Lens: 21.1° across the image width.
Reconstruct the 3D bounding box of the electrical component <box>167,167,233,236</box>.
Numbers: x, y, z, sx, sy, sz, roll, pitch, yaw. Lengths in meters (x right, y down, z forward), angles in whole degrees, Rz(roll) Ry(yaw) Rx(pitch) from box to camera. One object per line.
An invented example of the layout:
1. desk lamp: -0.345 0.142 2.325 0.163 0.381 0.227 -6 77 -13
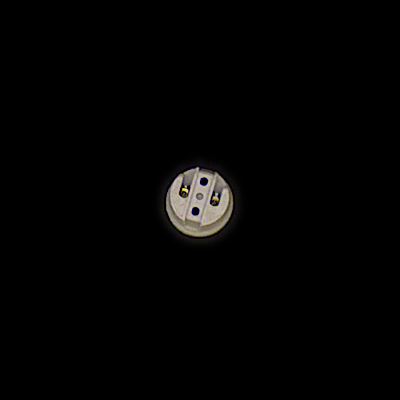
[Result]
1. electrical component: 0.000 0.000 0.635 0.040 0.040 0.046 0 -6 0
